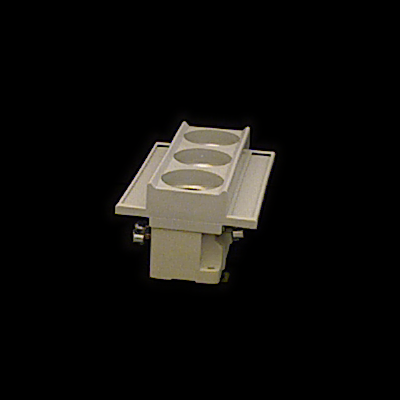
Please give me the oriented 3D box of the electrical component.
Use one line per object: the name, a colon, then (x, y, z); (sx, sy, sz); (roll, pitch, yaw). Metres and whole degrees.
electrical component: (0.000, 0.000, 0.652); (0.078, 0.064, 0.119); (5, 22, 7)
